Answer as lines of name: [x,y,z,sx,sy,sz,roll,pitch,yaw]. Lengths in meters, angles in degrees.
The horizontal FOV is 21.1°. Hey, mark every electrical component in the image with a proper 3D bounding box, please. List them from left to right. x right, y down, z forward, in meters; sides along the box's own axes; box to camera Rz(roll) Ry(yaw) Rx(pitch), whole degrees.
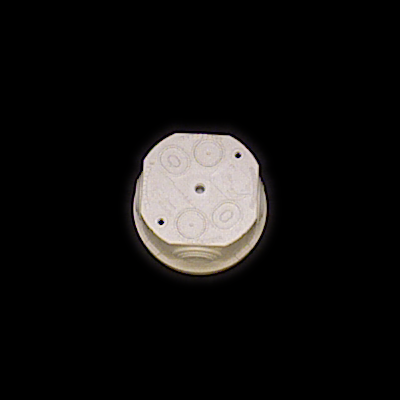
electrical component: [0.000,0.000,0.632,0.080,0.080,0.050,0,-17,-1]
